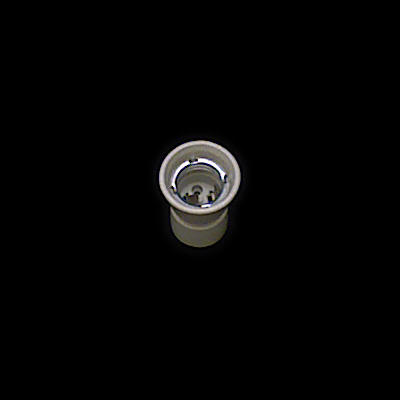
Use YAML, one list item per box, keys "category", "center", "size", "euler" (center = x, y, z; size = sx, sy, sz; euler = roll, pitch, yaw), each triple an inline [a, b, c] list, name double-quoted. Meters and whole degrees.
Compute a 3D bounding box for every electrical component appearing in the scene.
- category: "electrical component"
  center: [0.000, 0.000, 0.624]
  size: [0.044, 0.044, 0.065]
  euler: [0, -26, -1]
